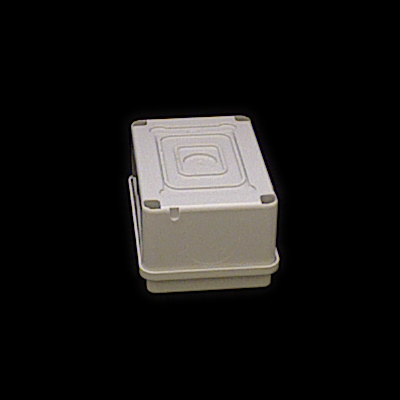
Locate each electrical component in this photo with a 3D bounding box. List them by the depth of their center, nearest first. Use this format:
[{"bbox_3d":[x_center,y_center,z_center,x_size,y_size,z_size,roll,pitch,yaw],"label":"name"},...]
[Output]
[{"bbox_3d":[0.000,0.000,0.635,0.078,0.058,0.111,-3,31,-6],"label":"electrical component"}]
